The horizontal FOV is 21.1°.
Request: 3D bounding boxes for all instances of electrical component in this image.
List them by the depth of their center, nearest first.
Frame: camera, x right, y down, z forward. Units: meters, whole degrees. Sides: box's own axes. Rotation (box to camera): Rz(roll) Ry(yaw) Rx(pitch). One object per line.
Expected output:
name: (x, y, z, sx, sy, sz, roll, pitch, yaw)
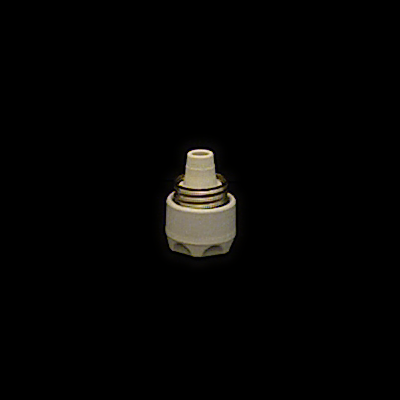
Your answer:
electrical component: (0.000, 0.000, 0.646, 0.043, 0.063, 0.043, 0, 21, 0)
